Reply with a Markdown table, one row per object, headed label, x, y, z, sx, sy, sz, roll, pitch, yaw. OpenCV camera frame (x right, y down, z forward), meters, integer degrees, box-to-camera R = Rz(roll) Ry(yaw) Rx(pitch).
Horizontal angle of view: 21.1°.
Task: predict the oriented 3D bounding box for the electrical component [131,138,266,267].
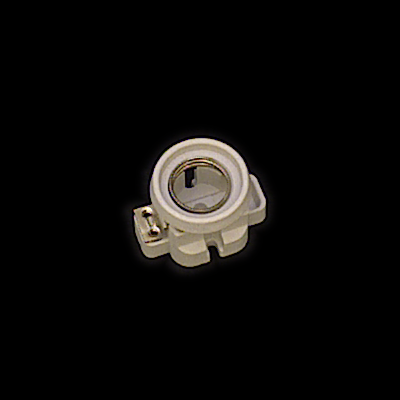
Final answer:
| label | x | y | z | sx | sy | sz | roll | pitch | yaw |
| --- | --- | --- | --- | --- | --- | --- | --- | --- | --- |
| electrical component | 0.000 | 0.000 | 0.627 | 0.079 | 0.058 | 0.056 | -18 | -26 | -9 |
